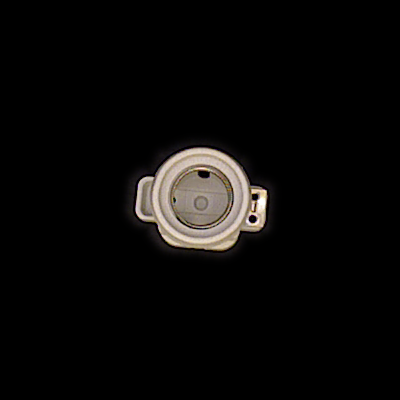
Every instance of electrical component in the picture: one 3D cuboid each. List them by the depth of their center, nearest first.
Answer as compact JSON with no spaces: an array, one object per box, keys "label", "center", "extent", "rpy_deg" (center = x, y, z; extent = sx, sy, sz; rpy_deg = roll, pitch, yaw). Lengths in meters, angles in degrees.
[{"label":"electrical component","center":[0.000,0.000,0.630],"extent":[0.078,0.058,0.056],"rpy_deg":[5,-6,1]}]
